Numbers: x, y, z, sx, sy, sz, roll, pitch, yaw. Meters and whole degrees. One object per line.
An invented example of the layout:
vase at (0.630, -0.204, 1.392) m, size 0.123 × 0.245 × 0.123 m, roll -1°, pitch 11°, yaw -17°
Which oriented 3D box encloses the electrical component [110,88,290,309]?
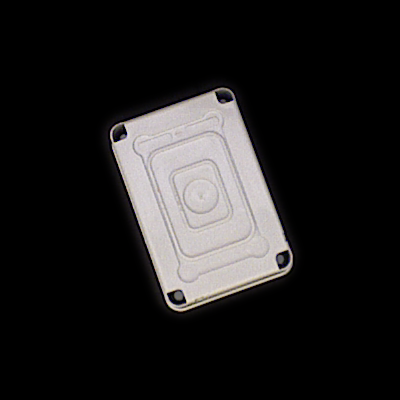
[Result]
electrical component at (0.000, 0.000, 0.629) m, size 0.078 × 0.113 × 0.057 m, roll -19°, pitch -7°, yaw -2°
